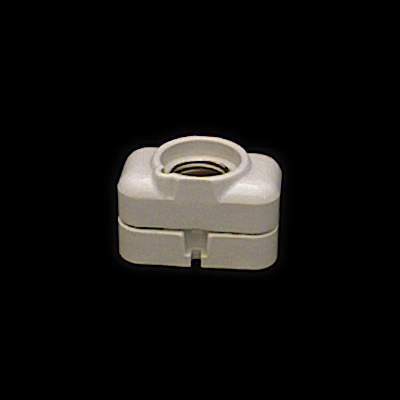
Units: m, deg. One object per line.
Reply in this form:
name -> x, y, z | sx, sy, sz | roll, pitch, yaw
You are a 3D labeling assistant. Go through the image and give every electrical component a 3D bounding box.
electrical component -> 0.000, 0.000, 0.640 | 0.095, 0.060, 0.053 | 3, 32, 4
